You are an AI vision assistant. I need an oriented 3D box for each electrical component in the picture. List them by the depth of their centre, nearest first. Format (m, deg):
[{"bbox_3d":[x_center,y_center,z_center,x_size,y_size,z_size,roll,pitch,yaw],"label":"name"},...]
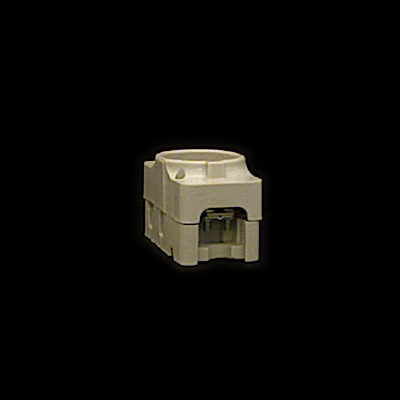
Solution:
[{"bbox_3d":[0.000,0.000,0.651,0.050,0.056,0.088,-3,12,-18],"label":"electrical component"}]
